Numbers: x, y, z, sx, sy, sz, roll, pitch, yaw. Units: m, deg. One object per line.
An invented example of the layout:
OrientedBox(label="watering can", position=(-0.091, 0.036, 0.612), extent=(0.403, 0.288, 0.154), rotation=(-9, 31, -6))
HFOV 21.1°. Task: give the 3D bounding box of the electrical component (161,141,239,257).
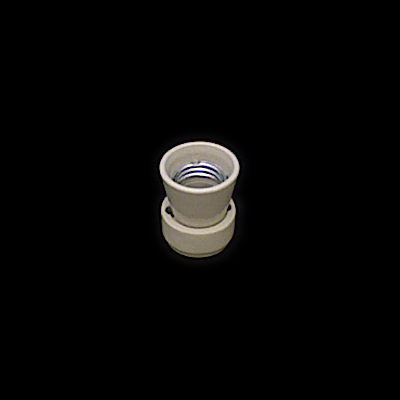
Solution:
OrientedBox(label="electrical component", position=(0.000, 0.000, 0.631), extent=(0.045, 0.055, 0.044), rotation=(0, 43, 0))
